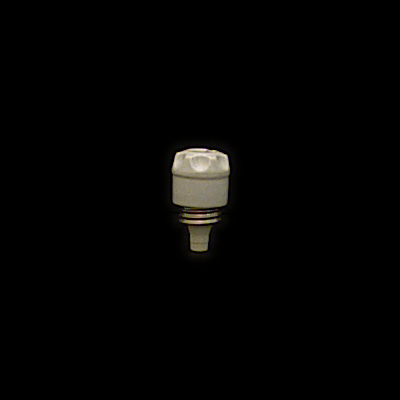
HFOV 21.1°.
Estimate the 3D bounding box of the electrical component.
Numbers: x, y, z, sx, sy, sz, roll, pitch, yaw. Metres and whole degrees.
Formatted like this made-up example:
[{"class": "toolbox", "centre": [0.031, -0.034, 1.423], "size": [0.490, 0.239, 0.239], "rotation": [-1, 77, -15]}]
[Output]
[{"class": "electrical component", "centre": [0.000, 0.000, 0.652], "size": [0.035, 0.062, 0.035], "rotation": [1, 12, 0]}]
